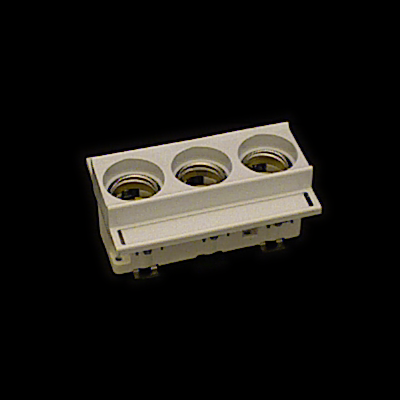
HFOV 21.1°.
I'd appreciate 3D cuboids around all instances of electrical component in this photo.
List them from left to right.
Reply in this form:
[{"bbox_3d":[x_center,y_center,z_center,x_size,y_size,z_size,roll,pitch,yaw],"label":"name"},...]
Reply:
[{"bbox_3d":[0.000,0.000,0.642,0.121,0.064,0.077,-11,45,-12],"label":"electrical component"}]
